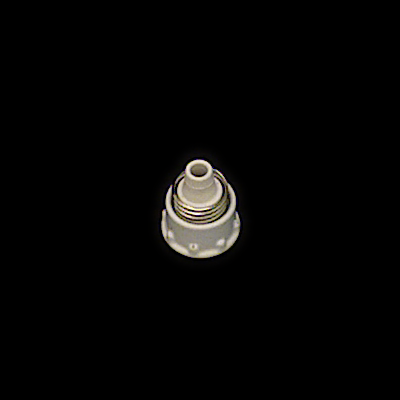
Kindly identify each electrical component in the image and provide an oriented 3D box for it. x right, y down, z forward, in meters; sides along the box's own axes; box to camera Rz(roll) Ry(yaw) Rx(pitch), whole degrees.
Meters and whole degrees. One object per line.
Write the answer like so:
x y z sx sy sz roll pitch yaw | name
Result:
0.000 0.000 0.634 0.048 0.048 0.062 0 -37 1 | electrical component
